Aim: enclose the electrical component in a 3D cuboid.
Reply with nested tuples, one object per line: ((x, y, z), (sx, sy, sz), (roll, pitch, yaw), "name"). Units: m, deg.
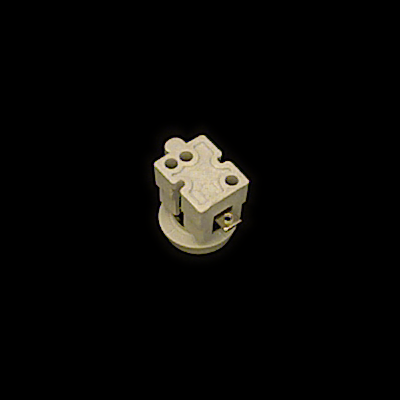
((0.000, 0.000, 0.638), (0.049, 0.066, 0.055), (-31, -30, -23), "electrical component")
